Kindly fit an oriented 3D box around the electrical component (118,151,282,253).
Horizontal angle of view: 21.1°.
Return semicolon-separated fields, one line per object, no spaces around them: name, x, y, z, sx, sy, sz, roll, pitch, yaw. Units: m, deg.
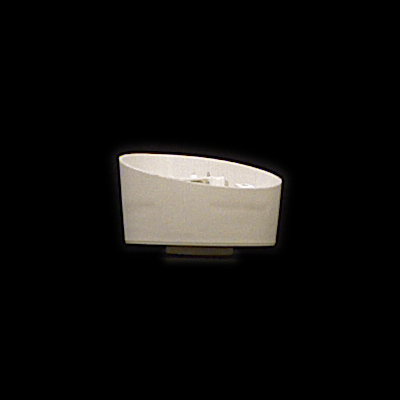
electrical component;0.000;0.000;0.649;0.099;0.064;0.099;0;-1;0
